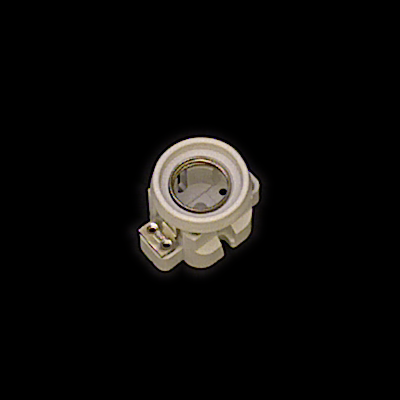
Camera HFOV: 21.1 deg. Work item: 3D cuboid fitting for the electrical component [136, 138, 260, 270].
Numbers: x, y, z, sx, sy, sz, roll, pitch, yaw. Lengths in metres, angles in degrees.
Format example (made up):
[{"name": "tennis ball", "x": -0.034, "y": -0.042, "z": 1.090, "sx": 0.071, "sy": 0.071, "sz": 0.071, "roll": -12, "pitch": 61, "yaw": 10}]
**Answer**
[{"name": "electrical component", "x": 0.000, "y": 0.000, "z": 0.627, "sx": 0.079, "sy": 0.058, "sz": 0.056, "roll": -37, "pitch": -21, "yaw": -17}]
